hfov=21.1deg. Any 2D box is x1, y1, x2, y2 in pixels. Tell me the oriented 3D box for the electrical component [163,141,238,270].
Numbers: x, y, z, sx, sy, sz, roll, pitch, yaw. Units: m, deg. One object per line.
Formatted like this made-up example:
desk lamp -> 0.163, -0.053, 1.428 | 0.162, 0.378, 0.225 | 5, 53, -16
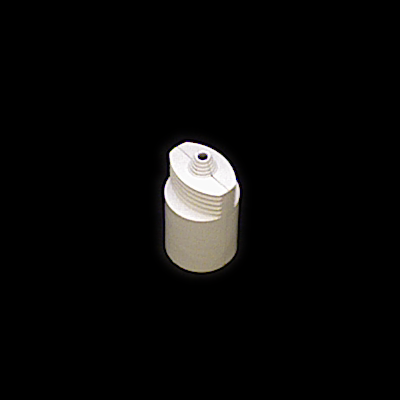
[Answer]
electrical component -> 0.000, 0.000, 0.619 | 0.043, 0.043, 0.081 | 0, -38, 0
